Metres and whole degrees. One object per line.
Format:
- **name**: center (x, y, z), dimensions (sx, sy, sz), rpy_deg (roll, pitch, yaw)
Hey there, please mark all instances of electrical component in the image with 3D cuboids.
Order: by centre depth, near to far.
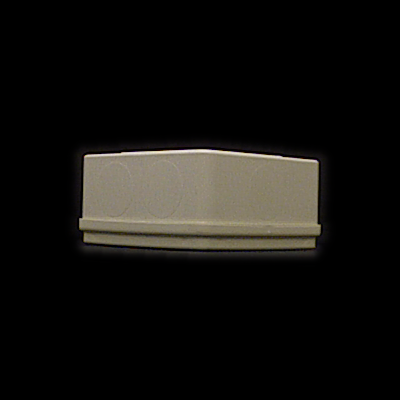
- **electrical component**: center (0.000, 0.000, 0.652), dimensions (0.108, 0.056, 0.109), rpy_deg (1, -1, 44)
